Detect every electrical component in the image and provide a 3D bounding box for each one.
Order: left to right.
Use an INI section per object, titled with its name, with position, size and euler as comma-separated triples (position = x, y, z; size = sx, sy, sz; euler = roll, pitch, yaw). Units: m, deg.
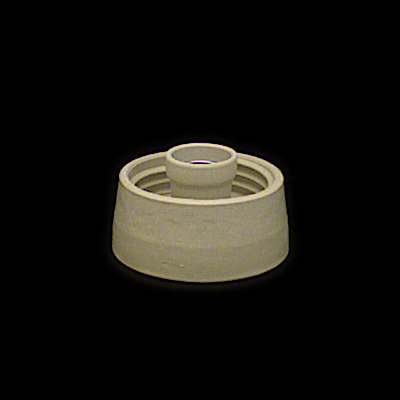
[electrical component]
position = 0.000, 0.000, 0.647
size = 0.108, 0.061, 0.106
euler = 1, 21, 0
